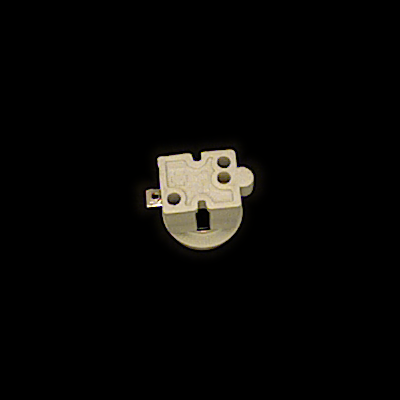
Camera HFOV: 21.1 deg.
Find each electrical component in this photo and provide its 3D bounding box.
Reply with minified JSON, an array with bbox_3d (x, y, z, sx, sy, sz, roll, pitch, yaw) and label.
[{"bbox_3d":[0.000,0.000,0.638,0.066,0.048,0.055,-5,-25,-2],"label":"electrical component"}]
